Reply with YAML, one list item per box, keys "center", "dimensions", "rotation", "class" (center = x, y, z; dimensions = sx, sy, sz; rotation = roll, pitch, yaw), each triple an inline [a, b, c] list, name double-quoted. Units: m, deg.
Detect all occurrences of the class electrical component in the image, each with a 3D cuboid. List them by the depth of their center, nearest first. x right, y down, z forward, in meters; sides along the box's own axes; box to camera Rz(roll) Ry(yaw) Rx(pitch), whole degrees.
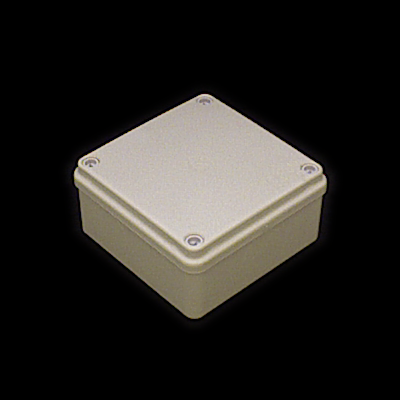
- center: [0.000, 0.000, 0.632]
  dimensions: [0.109, 0.056, 0.108]
  rotation: [-31, 51, -31]
  class: "electrical component"
